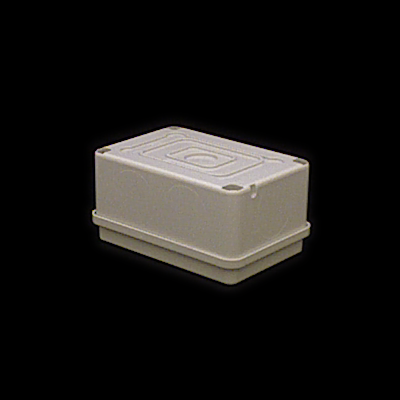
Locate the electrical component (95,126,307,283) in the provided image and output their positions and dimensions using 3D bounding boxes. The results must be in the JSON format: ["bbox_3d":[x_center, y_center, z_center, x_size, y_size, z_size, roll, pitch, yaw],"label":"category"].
[{"bbox_3d":[0.000,0.000,0.639,0.112,0.058,0.078,17,26,37],"label":"electrical component"}]
